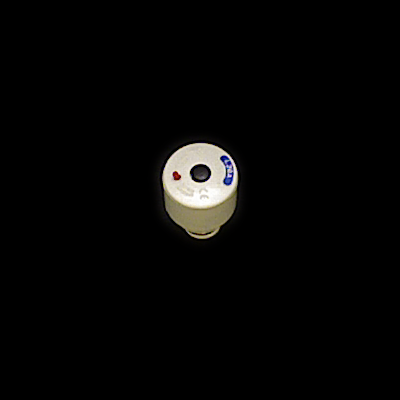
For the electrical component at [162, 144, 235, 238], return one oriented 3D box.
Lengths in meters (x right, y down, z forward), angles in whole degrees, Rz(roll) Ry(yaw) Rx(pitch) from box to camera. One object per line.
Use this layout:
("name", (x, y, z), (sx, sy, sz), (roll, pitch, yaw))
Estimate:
("electrical component", (0.000, 0.000, 0.618), (0.040, 0.040, 0.078), (0, -27, 1))
